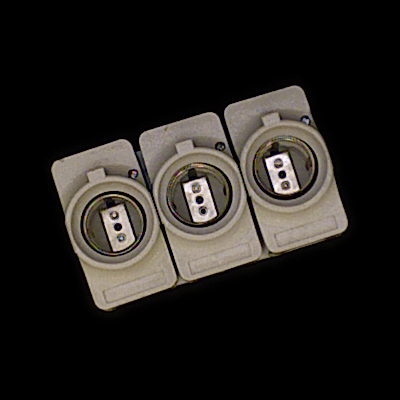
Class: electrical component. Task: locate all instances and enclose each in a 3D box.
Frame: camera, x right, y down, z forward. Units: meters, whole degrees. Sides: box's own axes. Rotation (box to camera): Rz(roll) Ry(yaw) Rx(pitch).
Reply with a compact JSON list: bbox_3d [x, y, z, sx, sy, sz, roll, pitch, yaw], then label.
[{"bbox_3d":[0.000,0.000,0.632,0.150,0.089,0.061,-18,-6,-2],"label":"electrical component"}]
